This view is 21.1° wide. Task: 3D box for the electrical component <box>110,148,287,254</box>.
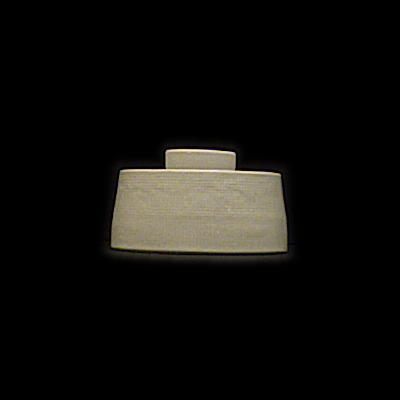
[{"bbox_3d":[0.000,0.000,0.655,0.108,0.060,0.108,1,1,1],"label":"electrical component"}]
